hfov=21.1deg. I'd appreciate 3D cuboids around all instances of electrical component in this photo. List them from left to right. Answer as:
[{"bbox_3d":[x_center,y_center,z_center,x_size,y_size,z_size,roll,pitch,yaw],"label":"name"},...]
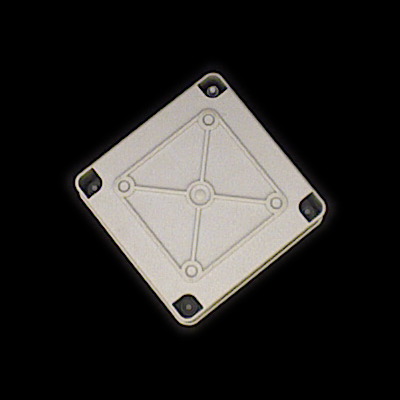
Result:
[{"bbox_3d":[0.000,0.000,0.629,0.109,0.109,0.056,-38,-5,-5],"label":"electrical component"}]
